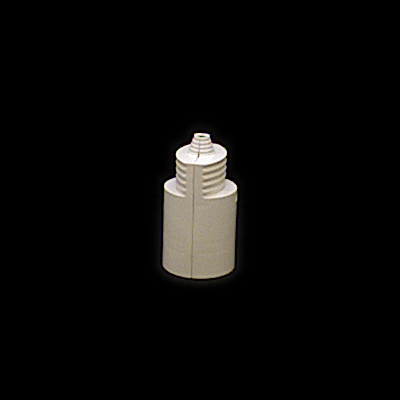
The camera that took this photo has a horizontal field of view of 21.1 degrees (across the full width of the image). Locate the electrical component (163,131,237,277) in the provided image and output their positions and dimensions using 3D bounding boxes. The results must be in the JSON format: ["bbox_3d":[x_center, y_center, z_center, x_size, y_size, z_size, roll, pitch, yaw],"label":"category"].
[{"bbox_3d":[0.000,0.000,0.634,0.043,0.082,0.042,1,21,0],"label":"electrical component"}]
